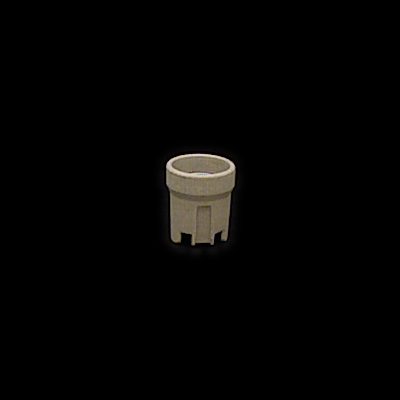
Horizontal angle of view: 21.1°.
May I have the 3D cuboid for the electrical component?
[{"bbox_3d":[0.000,0.000,0.637,0.040,0.047,0.039,1,21,0],"label":"electrical component"}]
